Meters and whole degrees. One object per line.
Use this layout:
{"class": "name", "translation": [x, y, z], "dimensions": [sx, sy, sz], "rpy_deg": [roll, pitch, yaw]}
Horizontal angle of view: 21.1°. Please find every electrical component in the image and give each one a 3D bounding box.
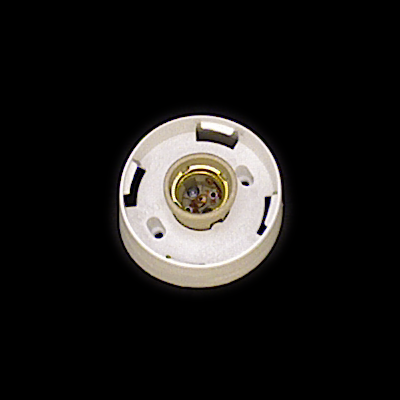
{"class": "electrical component", "translation": [0.000, 0.000, 0.624], "dimensions": [0.099, 0.099, 0.064], "rpy_deg": [0, -17, 0]}
